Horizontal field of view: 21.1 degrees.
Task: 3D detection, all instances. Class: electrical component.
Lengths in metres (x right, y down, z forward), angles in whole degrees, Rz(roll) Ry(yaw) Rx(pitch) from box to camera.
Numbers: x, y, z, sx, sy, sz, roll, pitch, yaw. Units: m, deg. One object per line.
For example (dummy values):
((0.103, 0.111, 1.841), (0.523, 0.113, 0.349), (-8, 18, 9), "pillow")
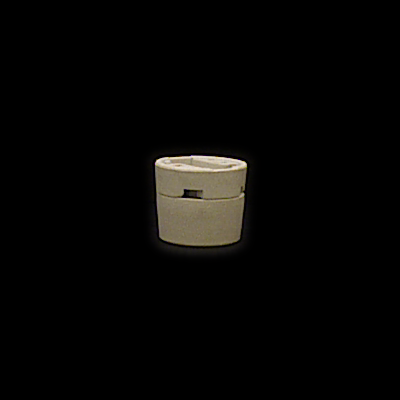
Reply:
((0.000, 0.000, 0.646), (0.055, 0.047, 0.055), (1, 11, 0), "electrical component")
